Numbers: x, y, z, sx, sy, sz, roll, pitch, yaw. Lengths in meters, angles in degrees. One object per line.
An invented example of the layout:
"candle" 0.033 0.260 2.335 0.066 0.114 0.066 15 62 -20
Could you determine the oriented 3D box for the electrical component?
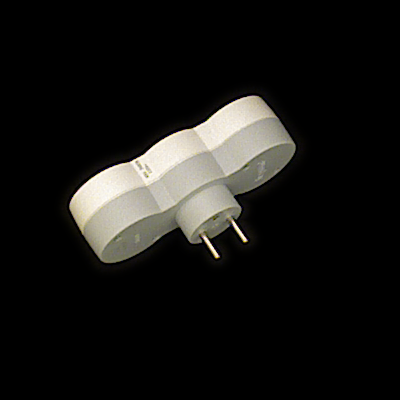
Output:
"electrical component" 0.000 0.000 0.636 0.139 0.073 0.052 -29 -21 -14
